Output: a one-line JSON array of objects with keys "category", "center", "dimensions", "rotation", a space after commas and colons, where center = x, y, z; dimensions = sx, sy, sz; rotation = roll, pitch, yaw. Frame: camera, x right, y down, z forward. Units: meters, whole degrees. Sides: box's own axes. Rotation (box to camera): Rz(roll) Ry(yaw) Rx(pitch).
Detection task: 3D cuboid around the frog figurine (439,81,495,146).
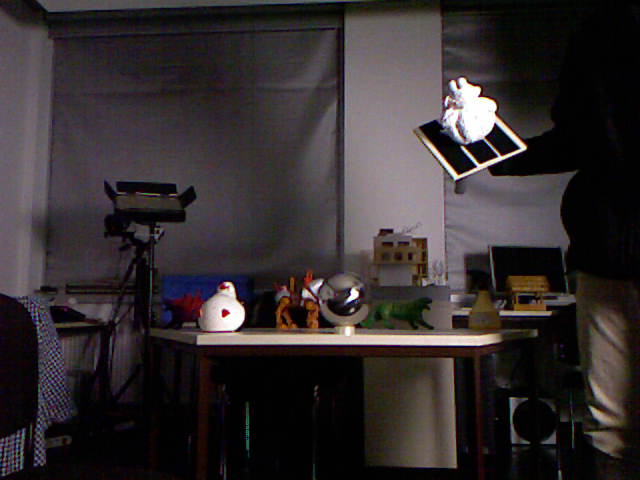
[{"category": "frog figurine", "center": [0.367, -0.319, 1.286], "dimensions": [0.137, 0.126, 0.156], "rotation": [-6, -34, 4]}]
